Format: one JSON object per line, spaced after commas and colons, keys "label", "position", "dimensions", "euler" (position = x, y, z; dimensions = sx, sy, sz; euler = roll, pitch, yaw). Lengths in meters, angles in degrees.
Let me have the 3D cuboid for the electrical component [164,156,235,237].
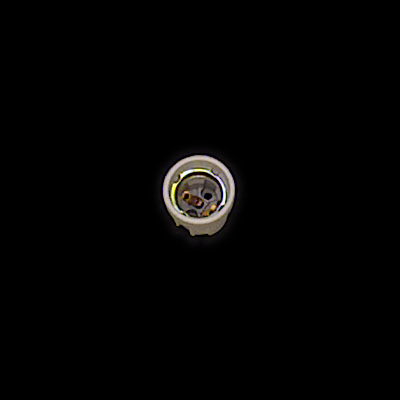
{"label": "electrical component", "position": [0.000, 0.000, 0.626], "dimensions": [0.040, 0.040, 0.046], "euler": [0, -16, 0]}
